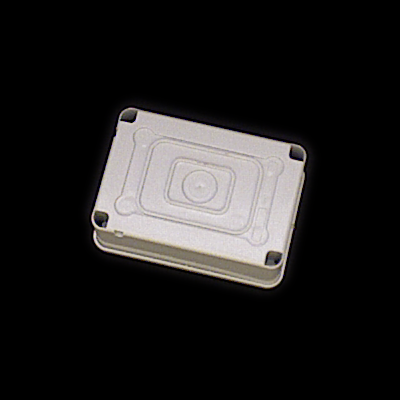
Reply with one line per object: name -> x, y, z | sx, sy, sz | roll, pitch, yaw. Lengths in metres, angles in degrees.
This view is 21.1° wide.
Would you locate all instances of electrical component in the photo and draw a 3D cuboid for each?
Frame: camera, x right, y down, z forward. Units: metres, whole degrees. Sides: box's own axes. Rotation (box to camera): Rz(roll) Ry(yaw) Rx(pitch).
electrical component -> 0.000, 0.000, 0.628 | 0.113, 0.078, 0.057 | 13, -17, 3
